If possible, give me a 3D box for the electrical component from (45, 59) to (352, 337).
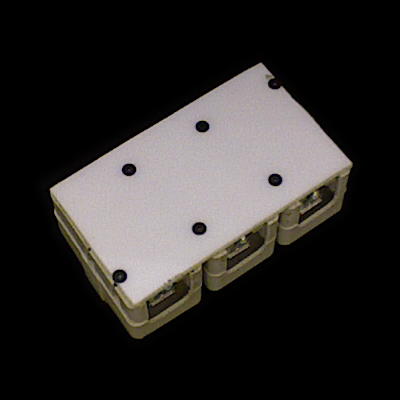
[{"bbox_3d":[0.000,0.000,0.629,0.150,0.089,0.062,-32,-23,-15],"label":"electrical component"}]
